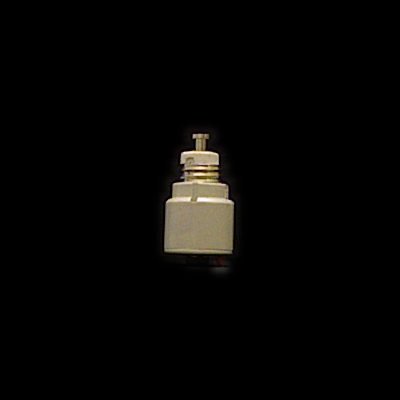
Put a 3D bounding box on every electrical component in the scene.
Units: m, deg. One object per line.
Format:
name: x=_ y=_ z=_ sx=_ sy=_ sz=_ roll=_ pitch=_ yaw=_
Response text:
electrical component: x=0.000 y=0.000 z=0.647 sx=0.040 sy=0.078 sz=0.040 roll=1 pitch=0 yaw=0
